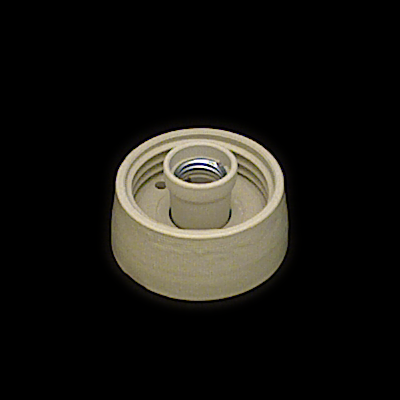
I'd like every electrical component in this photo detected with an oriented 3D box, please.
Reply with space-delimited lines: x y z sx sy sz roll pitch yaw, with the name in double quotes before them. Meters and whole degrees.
"electrical component" 0.000 0.000 0.636 0.108 0.061 0.107 1 43 0
